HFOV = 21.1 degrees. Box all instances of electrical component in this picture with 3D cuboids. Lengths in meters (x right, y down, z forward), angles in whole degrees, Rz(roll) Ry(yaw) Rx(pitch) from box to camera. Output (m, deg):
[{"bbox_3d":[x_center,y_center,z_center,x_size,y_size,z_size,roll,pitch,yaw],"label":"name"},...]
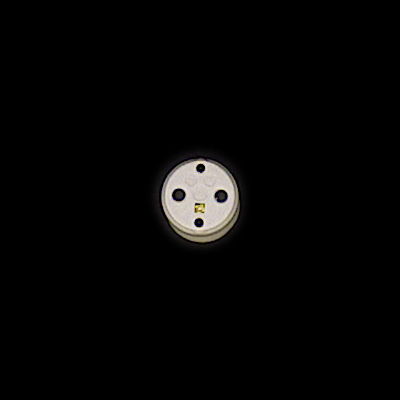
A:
[{"bbox_3d":[0.000,0.000,0.630,0.045,0.045,0.055,0,-7,1],"label":"electrical component"}]
